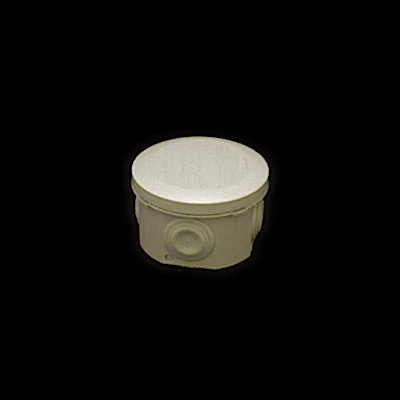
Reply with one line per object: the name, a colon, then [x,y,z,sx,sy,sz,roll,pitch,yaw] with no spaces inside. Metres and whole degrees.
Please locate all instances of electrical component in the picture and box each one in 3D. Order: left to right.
electrical component: [0.000,0.000,0.634,0.080,0.051,0.079,1,31,0]
